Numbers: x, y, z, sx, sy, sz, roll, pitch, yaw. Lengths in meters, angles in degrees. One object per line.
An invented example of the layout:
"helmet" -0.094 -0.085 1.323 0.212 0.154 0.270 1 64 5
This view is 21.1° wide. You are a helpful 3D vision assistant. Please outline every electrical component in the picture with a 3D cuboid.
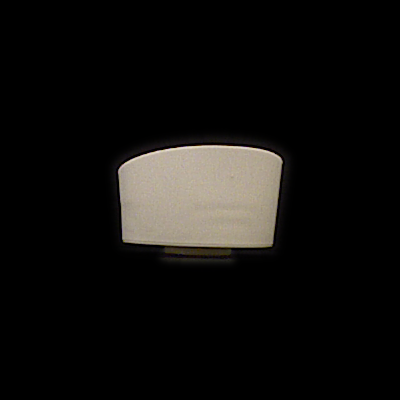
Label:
"electrical component" 0.000 0.000 0.649 0.099 0.064 0.099 2 1 0
